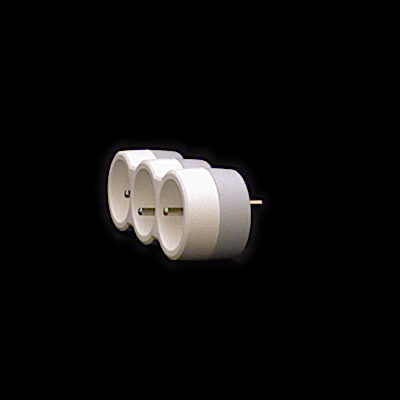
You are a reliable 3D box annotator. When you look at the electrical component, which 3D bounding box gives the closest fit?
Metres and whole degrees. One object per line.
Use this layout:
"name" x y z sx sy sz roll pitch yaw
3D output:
"electrical component" 0.000 0.000 0.648 0.074 0.052 0.137 -1 10 -24
